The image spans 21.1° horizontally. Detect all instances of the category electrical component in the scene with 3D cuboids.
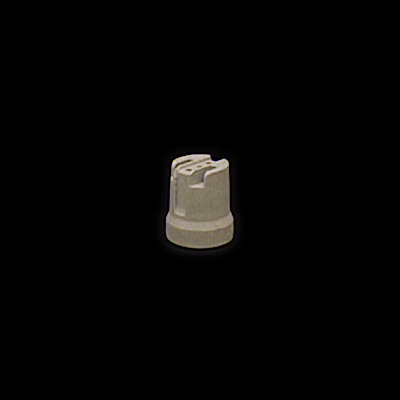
[{"bbox_3d":[0.000,0.000,0.641,0.040,0.046,0.040,1,21,0],"label":"electrical component"}]
